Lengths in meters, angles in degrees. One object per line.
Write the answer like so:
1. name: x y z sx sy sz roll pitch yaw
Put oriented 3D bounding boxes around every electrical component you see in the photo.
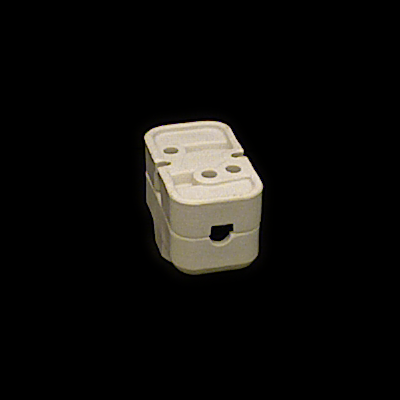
1. electrical component: 0.000 0.000 0.643 0.054 0.060 0.093 -7 33 -12
